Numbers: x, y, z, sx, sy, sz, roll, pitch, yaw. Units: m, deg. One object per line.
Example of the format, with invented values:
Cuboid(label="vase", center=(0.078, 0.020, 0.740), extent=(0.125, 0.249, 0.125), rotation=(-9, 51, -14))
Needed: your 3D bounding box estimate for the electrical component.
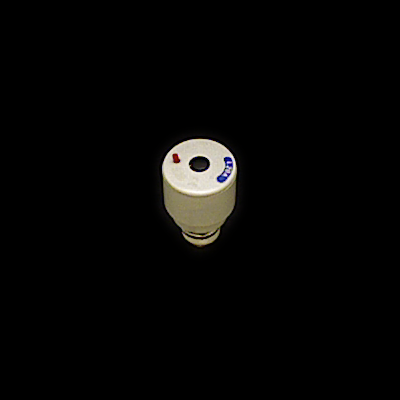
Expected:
Cuboid(label="electrical component", center=(0.000, 0.000, 0.621), extent=(0.040, 0.040, 0.079), rotation=(0, -38, 0))
